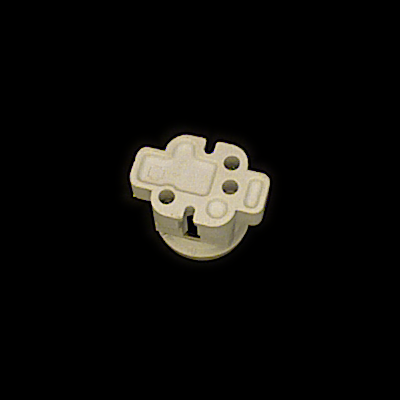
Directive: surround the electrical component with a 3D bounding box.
[{"bbox_3d":[0.000,0.000,0.635,0.078,0.058,0.057,12,-25,8],"label":"electrical component"}]
